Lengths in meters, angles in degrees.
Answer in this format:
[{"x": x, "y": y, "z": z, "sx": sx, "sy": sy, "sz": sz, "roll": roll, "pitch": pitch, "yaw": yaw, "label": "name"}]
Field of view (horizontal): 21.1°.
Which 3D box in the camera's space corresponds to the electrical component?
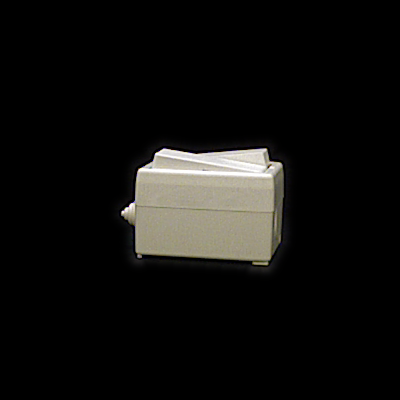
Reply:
[{"x": 0.000, "y": 0.000, "z": 0.644, "sx": 0.096, "sy": 0.061, "sz": 0.061, "roll": 3, "pitch": 11, "yaw": 10, "label": "electrical component"}]
